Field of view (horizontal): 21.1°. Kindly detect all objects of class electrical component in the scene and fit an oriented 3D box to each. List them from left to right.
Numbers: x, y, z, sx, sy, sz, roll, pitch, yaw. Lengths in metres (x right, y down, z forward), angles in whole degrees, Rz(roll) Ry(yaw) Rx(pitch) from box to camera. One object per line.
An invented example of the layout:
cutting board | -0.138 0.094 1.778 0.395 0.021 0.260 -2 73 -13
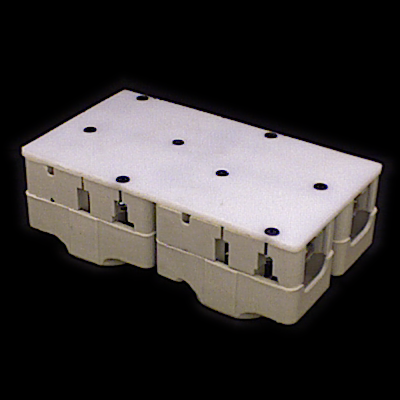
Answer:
electrical component | 0.000 0.000 0.634 0.185 0.061 0.105 19 36 27
